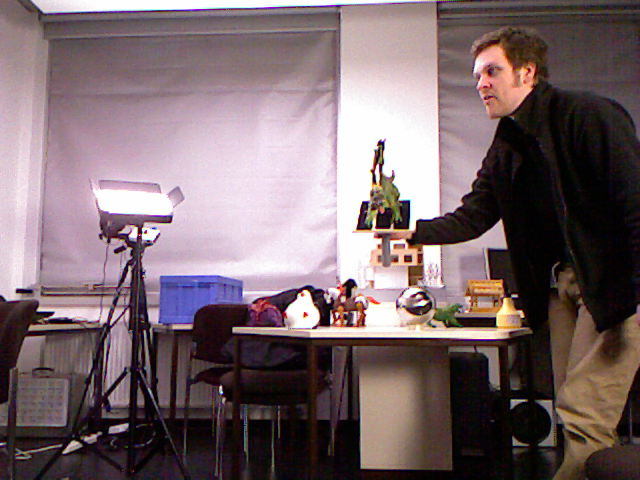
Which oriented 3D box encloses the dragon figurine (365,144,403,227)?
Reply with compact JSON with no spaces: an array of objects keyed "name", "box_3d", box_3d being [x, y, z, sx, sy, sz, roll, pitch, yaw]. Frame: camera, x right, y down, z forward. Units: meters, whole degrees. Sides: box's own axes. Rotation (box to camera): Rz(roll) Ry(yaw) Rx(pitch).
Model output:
[{"name":"dragon figurine","box_3d":[0.206,-0.197,1.673,0.122,0.237,0.420,-1,37,9]}]
